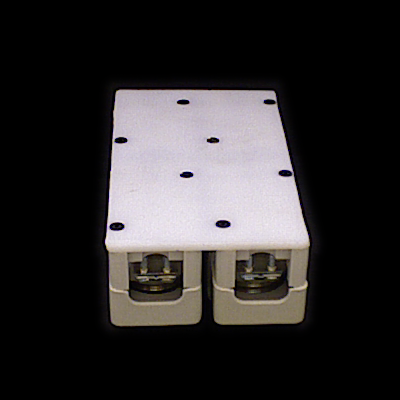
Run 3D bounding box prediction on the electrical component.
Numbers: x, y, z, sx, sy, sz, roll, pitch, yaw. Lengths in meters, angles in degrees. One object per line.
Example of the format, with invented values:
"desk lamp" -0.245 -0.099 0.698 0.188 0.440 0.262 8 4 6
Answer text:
"electrical component" 0.000 0.000 0.634 0.105 0.061 0.183 -1 31 -2
